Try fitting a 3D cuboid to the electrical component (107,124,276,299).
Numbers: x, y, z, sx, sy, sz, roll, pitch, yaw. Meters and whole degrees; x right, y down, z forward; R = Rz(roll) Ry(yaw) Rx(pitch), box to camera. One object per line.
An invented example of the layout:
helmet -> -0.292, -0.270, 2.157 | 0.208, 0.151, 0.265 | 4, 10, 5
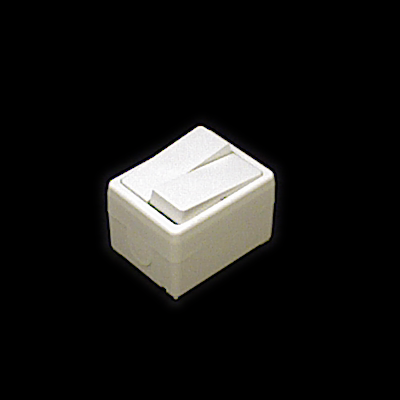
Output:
electrical component -> 0.000, 0.000, 0.632 | 0.096, 0.061, 0.061 | -31, 50, -30
